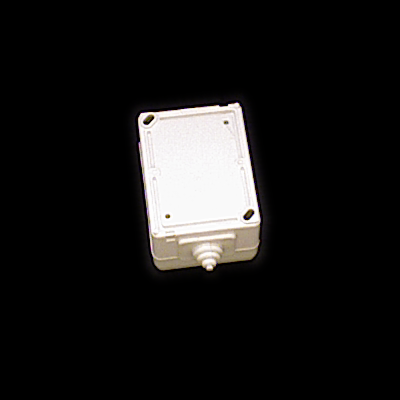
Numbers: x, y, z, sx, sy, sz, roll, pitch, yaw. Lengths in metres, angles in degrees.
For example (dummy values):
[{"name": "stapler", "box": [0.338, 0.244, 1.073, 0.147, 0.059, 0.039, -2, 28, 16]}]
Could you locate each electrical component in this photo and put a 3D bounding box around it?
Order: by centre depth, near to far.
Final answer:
[{"name": "electrical component", "box": [0.000, 0.000, 0.627, 0.062, 0.096, 0.060, -7, -26, -4]}]
